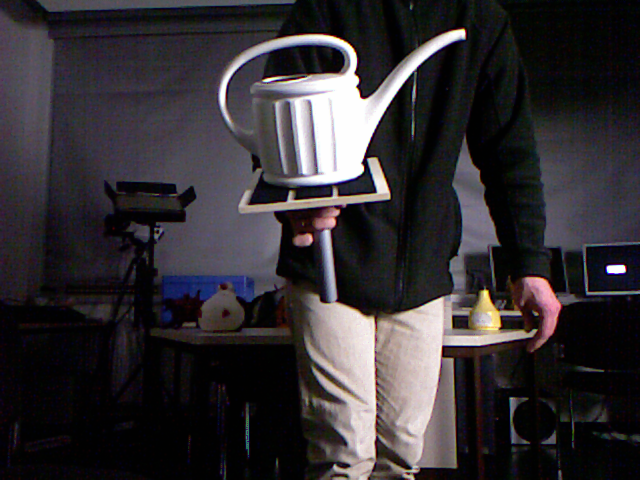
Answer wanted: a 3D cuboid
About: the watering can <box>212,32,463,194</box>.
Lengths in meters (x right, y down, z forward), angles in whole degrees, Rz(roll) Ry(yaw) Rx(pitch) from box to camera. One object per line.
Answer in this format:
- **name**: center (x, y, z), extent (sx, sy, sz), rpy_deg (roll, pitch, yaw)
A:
- **watering can**: center (0.026, -0.177, 0.726), extent (0.348, 0.220, 0.106), rpy_deg (-5, 26, 4)
